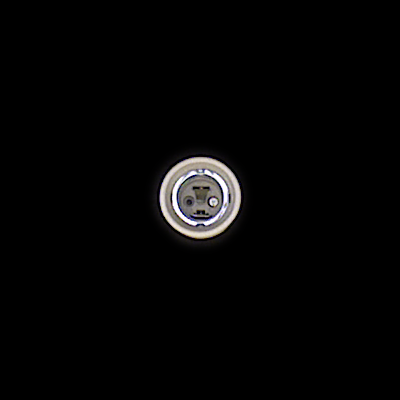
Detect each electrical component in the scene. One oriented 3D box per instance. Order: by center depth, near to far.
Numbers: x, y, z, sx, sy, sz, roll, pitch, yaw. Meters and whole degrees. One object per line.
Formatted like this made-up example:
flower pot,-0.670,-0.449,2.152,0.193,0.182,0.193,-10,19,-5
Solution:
electrical component,0.000,0.000,0.629,0.045,0.045,0.055,0,-5,1
